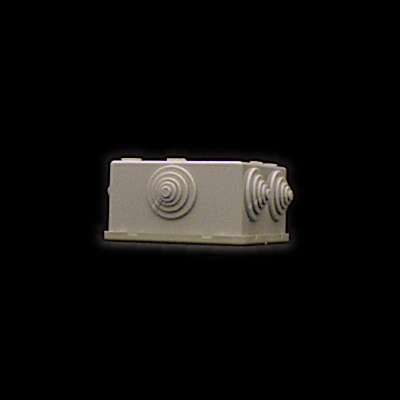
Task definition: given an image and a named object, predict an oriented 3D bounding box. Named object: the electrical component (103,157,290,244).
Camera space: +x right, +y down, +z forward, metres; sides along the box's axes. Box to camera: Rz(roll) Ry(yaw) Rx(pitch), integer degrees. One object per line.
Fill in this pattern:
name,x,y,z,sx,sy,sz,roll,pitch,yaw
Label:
electrical component,0.000,0.000,0.651,0.099,0.048,0.100,2,0,23
